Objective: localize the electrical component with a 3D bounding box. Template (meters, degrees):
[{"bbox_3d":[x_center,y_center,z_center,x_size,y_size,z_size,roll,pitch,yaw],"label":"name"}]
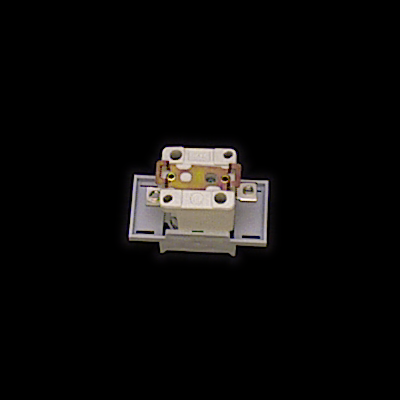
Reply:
[{"bbox_3d":[0.000,0.000,0.625,0.081,0.042,0.063,2,-27,0],"label":"electrical component"}]
